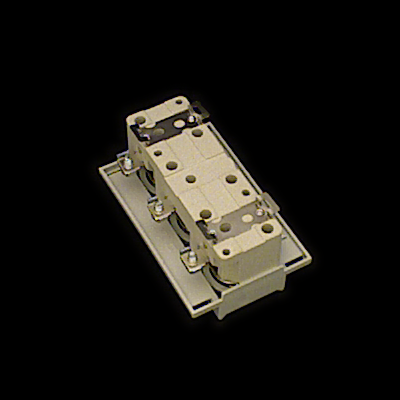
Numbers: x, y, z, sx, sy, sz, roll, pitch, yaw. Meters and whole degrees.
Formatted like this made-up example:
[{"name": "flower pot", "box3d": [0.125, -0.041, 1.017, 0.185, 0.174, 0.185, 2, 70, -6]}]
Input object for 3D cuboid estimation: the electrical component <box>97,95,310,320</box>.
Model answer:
[{"name": "electrical component", "box3d": [0.000, 0.000, 0.636, 0.079, 0.120, 0.063, -24, -33, -18]}]
